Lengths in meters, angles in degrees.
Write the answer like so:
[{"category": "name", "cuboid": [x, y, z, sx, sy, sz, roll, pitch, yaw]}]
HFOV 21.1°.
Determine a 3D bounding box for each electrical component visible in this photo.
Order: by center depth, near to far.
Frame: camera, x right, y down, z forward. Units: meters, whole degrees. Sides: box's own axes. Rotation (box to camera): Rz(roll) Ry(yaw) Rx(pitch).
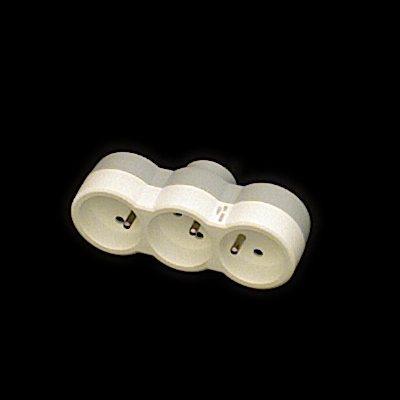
[{"category": "electrical component", "cuboid": [0.000, 0.000, 0.643, 0.137, 0.053, 0.073, 13, 42, 13]}]
